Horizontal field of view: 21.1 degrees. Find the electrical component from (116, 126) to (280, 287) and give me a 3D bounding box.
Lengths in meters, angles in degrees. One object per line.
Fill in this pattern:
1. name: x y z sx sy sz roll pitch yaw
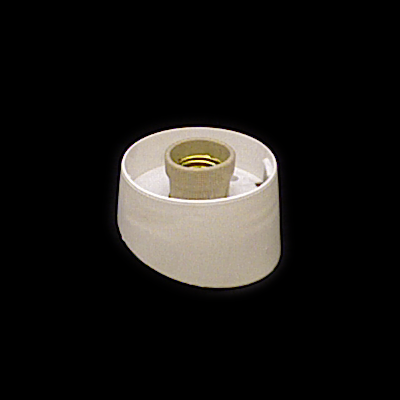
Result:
1. electrical component: 0.000 0.000 0.633 0.099 0.065 0.097 1 31 0
